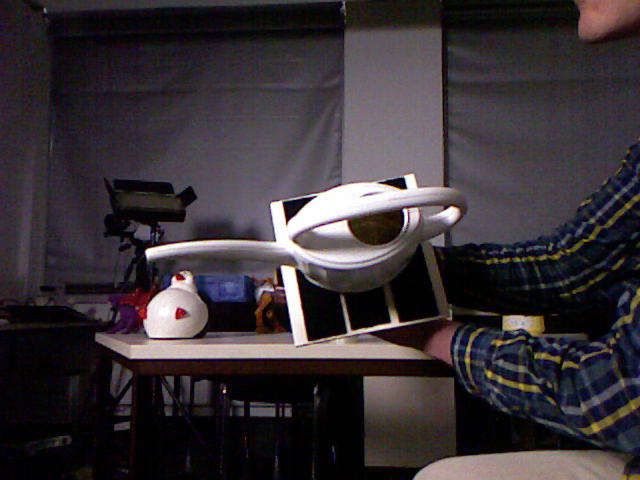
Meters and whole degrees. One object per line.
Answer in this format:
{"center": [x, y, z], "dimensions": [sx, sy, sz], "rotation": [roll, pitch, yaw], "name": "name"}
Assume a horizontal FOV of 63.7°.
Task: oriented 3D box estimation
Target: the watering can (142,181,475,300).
{"center": [-0.001, 0.006, 0.601], "dimensions": [0.351, 0.107, 0.223], "rotation": [-11, -20, 0], "name": "watering can"}
